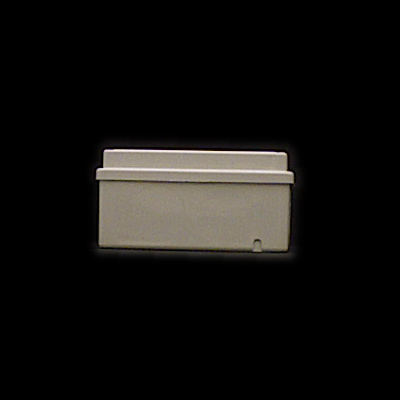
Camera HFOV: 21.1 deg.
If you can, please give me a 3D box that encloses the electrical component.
[{"bbox_3d":[0.000,0.000,0.647,0.113,0.057,0.078,1,0,6],"label":"electrical component"}]
